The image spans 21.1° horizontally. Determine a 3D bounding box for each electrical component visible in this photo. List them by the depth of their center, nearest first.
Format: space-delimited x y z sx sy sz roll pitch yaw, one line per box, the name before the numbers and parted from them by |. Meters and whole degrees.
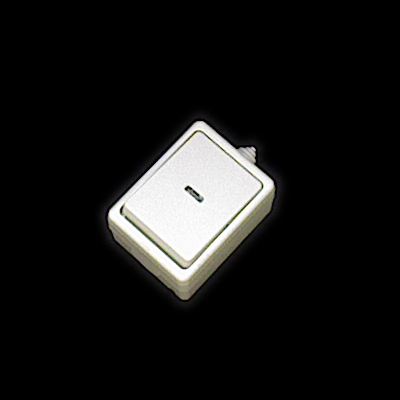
electrical component | 0.000 0.000 0.626 0.062 0.096 0.060 41 -13 11
